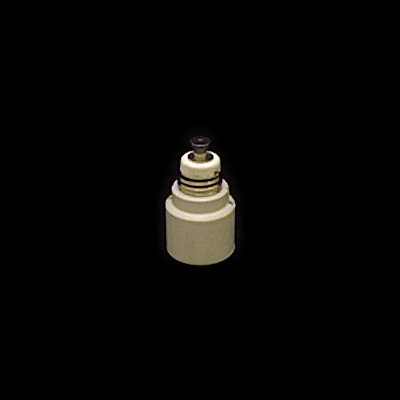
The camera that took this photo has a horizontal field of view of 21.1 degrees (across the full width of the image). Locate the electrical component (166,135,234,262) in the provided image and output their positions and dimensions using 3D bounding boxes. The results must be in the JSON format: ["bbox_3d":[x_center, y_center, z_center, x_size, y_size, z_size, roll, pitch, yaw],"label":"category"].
[{"bbox_3d":[0.000,0.000,0.629,0.040,0.079,0.039,0,32,0],"label":"electrical component"}]
